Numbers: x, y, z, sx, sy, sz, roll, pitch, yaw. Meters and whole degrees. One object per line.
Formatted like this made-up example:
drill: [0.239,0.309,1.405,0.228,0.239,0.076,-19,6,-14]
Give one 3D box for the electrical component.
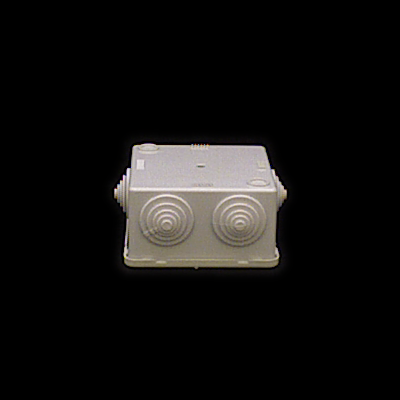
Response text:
electrical component: [0.000,0.000,0.641,0.100,0.049,0.098,0,21,-2]
